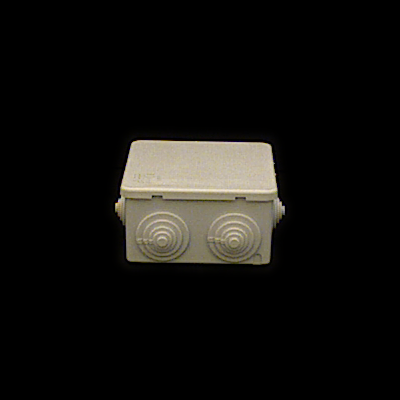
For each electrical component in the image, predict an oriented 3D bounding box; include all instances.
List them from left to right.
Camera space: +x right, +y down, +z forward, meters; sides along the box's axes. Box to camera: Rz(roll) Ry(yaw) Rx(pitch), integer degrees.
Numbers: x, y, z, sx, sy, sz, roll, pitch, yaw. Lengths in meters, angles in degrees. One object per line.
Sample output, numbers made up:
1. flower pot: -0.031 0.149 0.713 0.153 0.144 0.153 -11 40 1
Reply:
1. electrical component: 0.000 0.000 0.646 0.100 0.049 0.098 1 22 0
